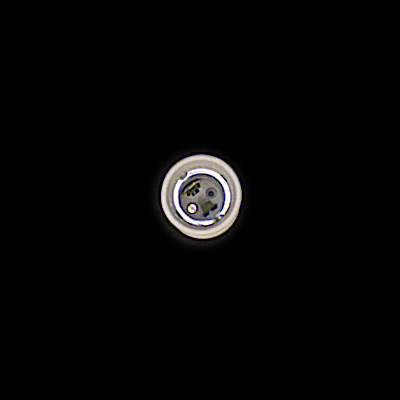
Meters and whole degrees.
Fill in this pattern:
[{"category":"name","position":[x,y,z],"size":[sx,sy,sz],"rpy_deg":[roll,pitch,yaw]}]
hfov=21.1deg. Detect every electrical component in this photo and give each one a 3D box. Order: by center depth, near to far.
[{"category":"electrical component","position":[0.000,0.000,0.629],"size":[0.045,0.045,0.055],"rpy_deg":[0,-7,1]}]
